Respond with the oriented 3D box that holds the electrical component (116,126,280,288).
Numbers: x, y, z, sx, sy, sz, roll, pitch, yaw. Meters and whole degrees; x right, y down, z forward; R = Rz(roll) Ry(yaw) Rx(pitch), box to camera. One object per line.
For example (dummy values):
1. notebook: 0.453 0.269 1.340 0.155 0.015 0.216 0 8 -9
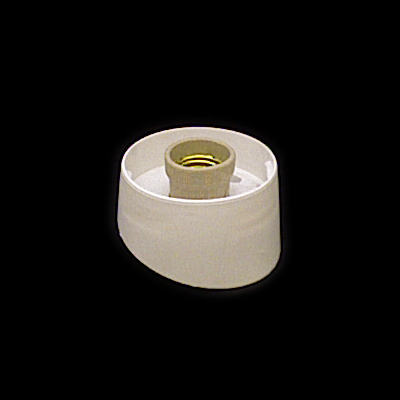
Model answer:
1. electrical component: 0.000 0.000 0.633 0.099 0.065 0.097 1 31 0
